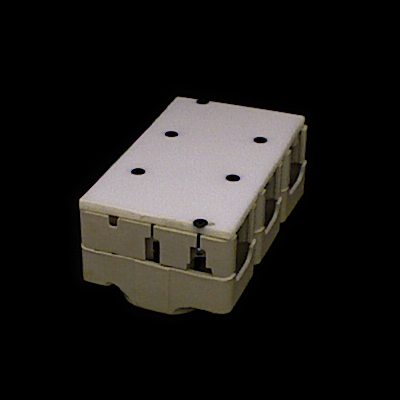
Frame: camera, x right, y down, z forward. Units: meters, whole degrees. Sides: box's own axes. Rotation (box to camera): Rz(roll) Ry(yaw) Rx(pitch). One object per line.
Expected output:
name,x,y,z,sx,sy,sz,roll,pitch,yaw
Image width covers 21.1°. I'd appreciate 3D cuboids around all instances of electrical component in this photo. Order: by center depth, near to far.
electrical component,0.000,0.000,0.643,0.089,0.063,0.147,12,32,17
